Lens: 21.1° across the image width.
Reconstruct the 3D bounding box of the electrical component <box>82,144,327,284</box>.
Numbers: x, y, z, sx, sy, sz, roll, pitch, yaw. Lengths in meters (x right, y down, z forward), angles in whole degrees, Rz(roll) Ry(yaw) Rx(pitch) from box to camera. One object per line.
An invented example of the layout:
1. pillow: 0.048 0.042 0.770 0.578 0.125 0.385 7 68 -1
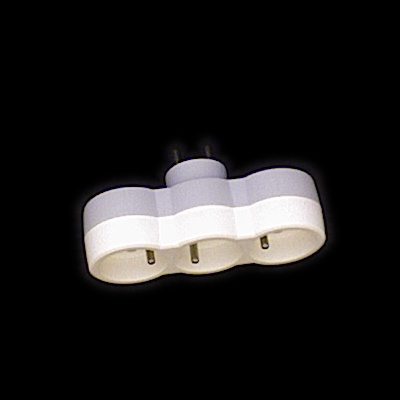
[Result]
1. electrical component: 0.000 0.000 0.630 0.138 0.074 0.052 -8 -29 -3
